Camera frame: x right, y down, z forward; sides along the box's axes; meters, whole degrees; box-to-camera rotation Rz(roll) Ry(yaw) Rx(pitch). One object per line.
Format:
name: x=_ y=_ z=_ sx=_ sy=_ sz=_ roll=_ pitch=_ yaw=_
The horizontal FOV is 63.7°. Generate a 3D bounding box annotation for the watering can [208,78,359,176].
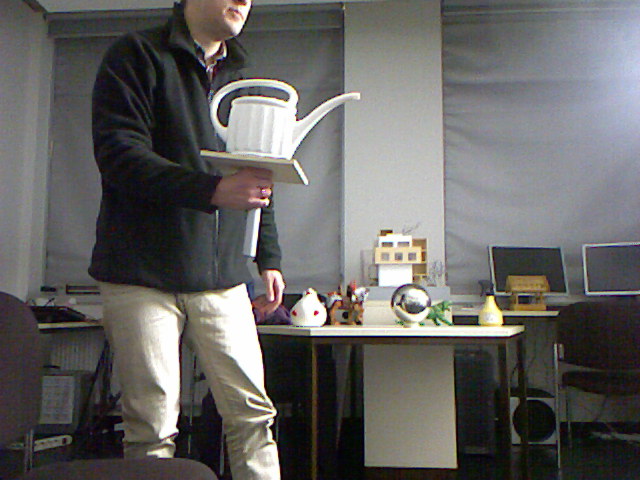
watering can: x=-0.092 y=-0.257 z=1.179 sx=0.348 sy=0.224 sz=0.104 roll=5 pitch=0 yaw=8
